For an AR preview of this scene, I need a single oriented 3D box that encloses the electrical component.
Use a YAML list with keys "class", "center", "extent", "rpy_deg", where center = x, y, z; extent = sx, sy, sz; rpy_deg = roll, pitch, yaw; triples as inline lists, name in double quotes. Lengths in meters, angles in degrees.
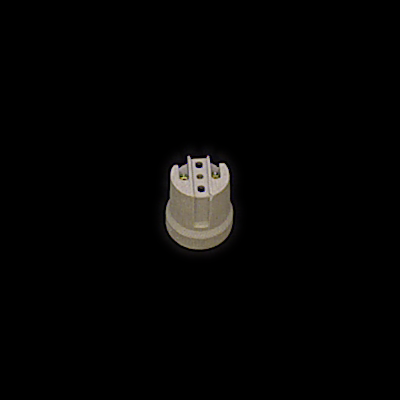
- class: "electrical component"
  center: [0.000, 0.000, 0.635]
  extent: [0.040, 0.040, 0.046]
  rpy_deg: [0, -37, -1]
